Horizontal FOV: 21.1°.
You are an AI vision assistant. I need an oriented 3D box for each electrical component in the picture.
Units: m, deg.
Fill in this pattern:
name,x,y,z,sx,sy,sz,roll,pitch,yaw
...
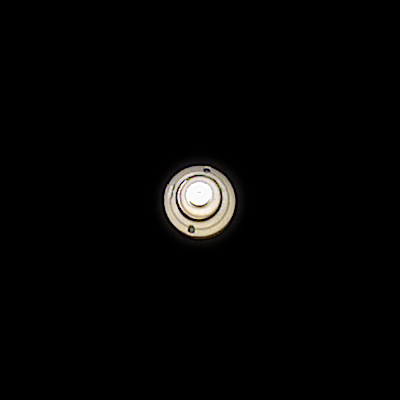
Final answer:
name,x,y,z,sx,sy,sz,roll,pitch,yaw
electrical component,0.000,0.000,0.618,0.040,0.040,0.078,0,-5,0
